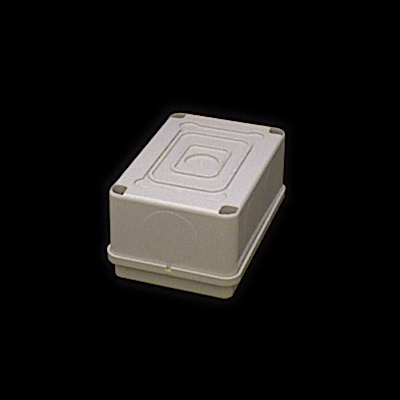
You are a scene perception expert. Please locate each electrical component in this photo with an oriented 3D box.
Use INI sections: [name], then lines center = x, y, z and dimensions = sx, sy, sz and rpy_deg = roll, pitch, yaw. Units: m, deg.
[electrical component]
center = 0.000, 0.000, 0.635
dimensions = 0.078, 0.058, 0.112
rpy_deg = 11, 33, 15
